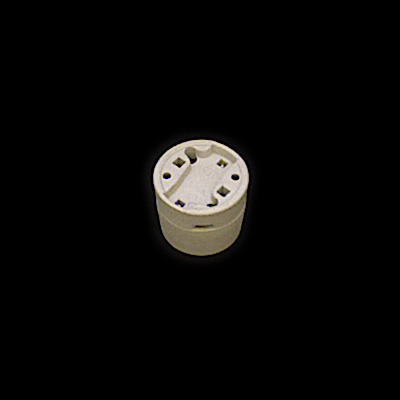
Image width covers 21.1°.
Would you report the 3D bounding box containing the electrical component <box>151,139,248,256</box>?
[{"bbox_3d":[0.000,0.000,0.634,0.055,0.055,0.047,0,-38,0],"label":"electrical component"}]
